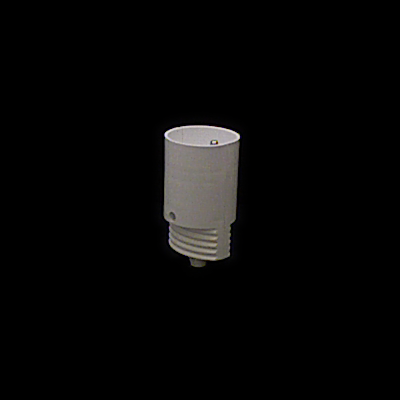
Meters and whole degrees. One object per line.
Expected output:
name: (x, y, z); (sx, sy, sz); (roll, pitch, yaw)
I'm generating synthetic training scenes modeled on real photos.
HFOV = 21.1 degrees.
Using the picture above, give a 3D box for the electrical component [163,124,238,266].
electrical component: (0.000, 0.000, 0.635); (0.043, 0.082, 0.042); (1, 22, 0)
